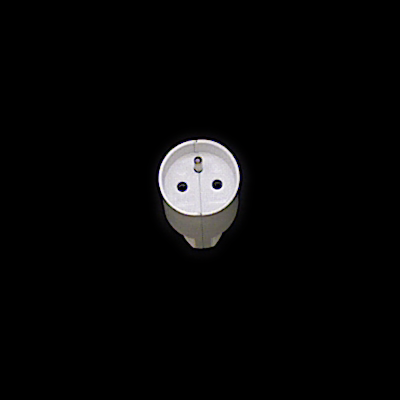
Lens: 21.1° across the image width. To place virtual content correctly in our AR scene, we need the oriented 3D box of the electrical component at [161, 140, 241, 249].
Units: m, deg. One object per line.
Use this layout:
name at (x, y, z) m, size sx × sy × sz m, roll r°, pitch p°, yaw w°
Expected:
electrical component at (0.000, 0.000, 0.615) m, size 0.043 × 0.043 × 0.080 m, roll 0°, pitch -17°, yaw 0°
